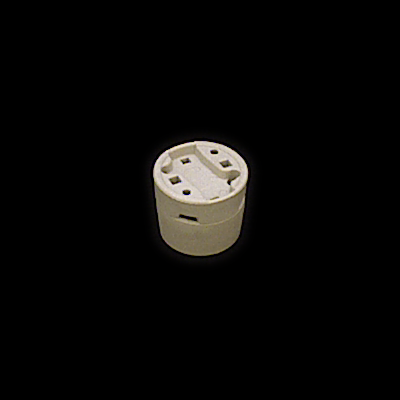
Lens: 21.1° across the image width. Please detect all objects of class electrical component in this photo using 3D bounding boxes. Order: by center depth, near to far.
[{"bbox_3d":[0.000,0.000,0.636,0.055,0.047,0.055,0,42,0],"label":"electrical component"}]
